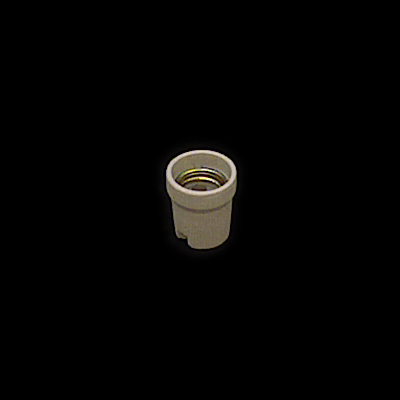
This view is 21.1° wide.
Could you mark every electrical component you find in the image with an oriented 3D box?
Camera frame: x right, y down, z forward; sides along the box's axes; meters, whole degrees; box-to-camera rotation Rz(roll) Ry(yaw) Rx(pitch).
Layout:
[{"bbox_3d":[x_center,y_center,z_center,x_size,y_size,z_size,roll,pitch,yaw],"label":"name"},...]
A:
[{"bbox_3d":[0.000,0.000,0.633,0.040,0.047,0.039,1,42,0],"label":"electrical component"}]
